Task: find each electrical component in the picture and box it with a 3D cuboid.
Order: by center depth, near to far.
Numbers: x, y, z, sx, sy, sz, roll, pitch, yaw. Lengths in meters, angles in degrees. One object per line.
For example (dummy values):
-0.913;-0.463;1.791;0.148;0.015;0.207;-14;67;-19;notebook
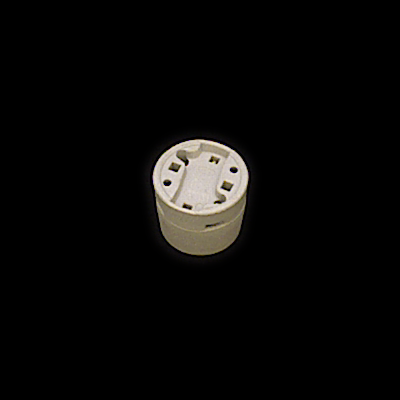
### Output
0.000;0.000;0.634;0.055;0.055;0.047;0;-38;0;electrical component
